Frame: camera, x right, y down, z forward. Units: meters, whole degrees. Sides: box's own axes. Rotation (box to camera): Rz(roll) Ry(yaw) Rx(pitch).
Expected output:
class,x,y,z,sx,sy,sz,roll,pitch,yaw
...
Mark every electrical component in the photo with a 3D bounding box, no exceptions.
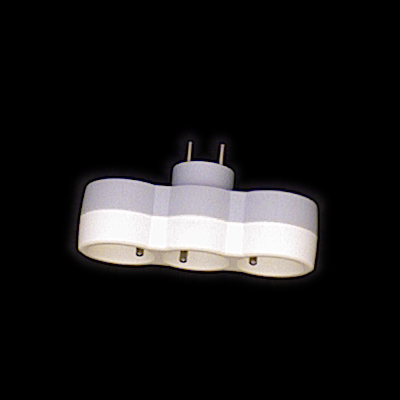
class,x,y,z,sx,sy,sz,roll,pitch,yaw
electrical component,0.000,0.000,0.630,0.138,0.074,0.052,4,-19,2
